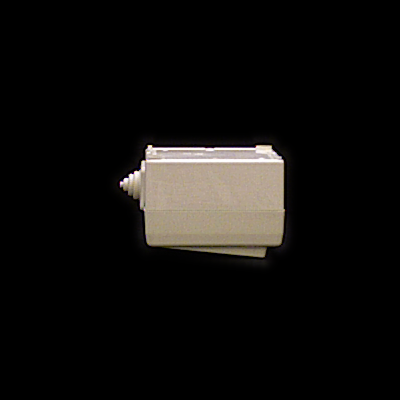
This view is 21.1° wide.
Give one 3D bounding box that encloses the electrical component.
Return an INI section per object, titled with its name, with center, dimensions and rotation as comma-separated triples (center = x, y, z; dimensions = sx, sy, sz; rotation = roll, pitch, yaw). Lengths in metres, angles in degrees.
[electrical component]
center = 0.000, 0.000, 0.647
dimensions = 0.096, 0.061, 0.061
rotation = 0, 11, -3
